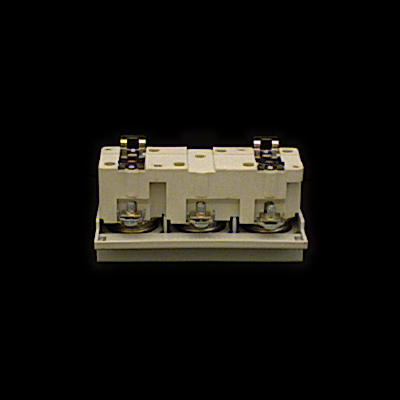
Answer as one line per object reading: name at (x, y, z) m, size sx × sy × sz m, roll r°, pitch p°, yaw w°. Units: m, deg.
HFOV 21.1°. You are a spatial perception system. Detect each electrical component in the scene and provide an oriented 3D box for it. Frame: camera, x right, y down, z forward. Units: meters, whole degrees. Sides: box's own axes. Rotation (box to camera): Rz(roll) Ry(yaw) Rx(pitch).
electrical component at (0.000, 0.000, 0.643) m, size 0.121 × 0.064 × 0.077 m, roll 0°, pitch 22°, yaw -3°
